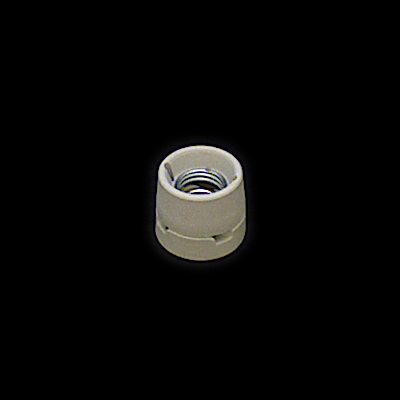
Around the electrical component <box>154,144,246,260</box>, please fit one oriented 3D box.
[{"bbox_3d":[0.000,0.000,0.636,0.055,0.047,0.055,0,42,0],"label":"electrical component"}]
